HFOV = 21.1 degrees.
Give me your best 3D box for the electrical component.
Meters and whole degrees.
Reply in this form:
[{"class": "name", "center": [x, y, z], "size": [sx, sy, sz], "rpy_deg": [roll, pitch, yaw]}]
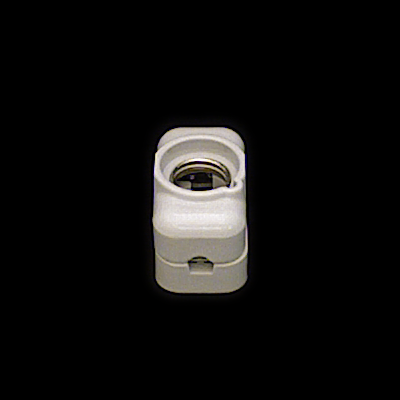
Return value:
[{"class": "electrical component", "center": [0.000, 0.000, 0.638], "size": [0.054, 0.060, 0.094], "rpy_deg": [0, 43, 0]}]
